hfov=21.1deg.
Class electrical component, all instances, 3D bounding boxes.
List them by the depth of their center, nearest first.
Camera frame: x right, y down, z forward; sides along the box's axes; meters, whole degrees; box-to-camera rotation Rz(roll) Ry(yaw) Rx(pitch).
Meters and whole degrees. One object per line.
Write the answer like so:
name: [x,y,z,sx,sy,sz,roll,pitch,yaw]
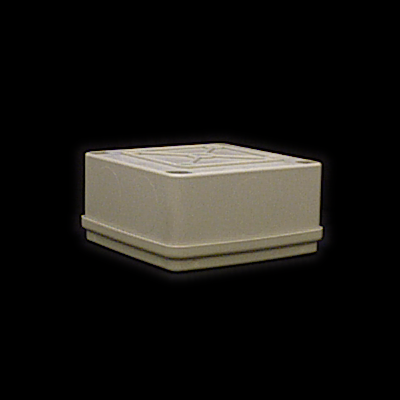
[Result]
electrical component: [0.000,0.000,0.642,0.109,0.056,0.108,-6,13,-34]
